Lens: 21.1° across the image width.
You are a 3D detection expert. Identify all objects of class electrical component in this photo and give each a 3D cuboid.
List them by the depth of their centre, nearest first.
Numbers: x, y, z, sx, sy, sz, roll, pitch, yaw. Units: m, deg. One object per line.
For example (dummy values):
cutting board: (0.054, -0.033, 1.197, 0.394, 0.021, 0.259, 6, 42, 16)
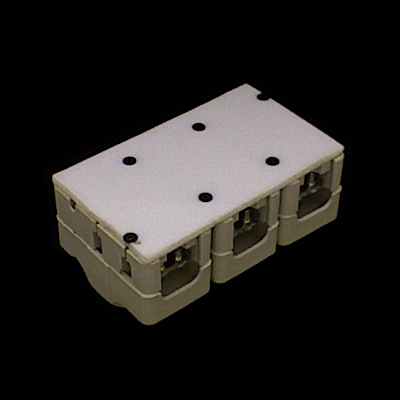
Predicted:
electrical component: (0.000, 0.000, 0.639, 0.149, 0.063, 0.088, -28, 49, -29)
